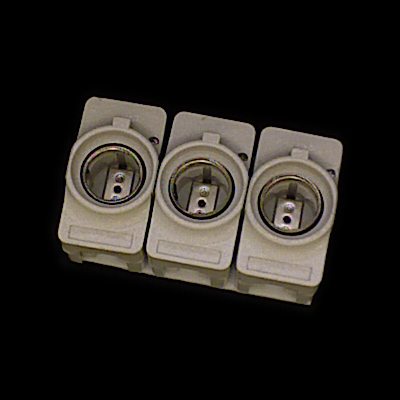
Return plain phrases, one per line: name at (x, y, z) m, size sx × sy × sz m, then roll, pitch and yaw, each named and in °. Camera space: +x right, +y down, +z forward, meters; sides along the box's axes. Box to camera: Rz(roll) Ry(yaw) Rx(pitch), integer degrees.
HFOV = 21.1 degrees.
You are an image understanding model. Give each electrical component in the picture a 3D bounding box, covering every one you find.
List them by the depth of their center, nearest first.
electrical component at (0.000, 0.000, 0.632) m, size 0.150 × 0.089 × 0.062 m, roll 10°, pitch -17°, yaw 3°
